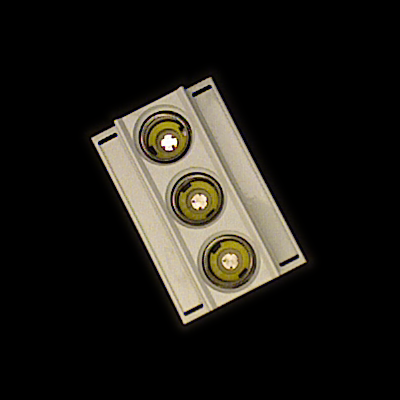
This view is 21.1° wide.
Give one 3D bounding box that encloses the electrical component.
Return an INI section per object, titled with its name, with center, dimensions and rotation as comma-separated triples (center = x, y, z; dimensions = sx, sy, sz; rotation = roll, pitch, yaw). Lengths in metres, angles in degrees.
[electrical component]
center = 0.000, 0.000, 0.637
dimensions = 0.079, 0.121, 0.063
rotation = -27, -5, -1
